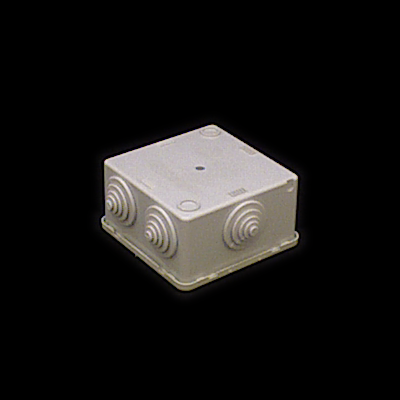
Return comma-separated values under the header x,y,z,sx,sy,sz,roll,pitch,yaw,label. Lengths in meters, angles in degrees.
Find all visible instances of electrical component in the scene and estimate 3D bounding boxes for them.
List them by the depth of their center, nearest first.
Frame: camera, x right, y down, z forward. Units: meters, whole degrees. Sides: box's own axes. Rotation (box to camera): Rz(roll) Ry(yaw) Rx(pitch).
x,y,z,sx,sy,sz,roll,pitch,yaw,label
0.000,0.000,0.636,0.099,0.049,0.099,-21,38,-31,electrical component
